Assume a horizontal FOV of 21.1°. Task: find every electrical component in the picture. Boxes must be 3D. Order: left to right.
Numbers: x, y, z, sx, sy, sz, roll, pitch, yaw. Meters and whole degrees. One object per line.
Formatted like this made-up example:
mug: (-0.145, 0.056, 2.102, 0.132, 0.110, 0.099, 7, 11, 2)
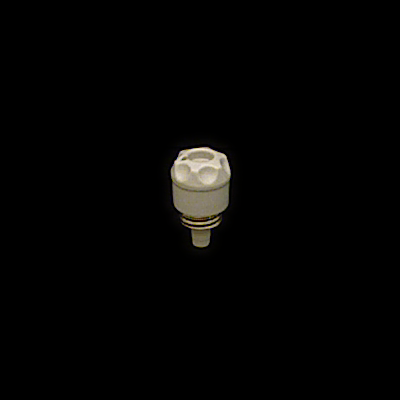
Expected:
electrical component: (0.000, 0.000, 0.641, 0.035, 0.062, 0.034, 1, 32, 0)
